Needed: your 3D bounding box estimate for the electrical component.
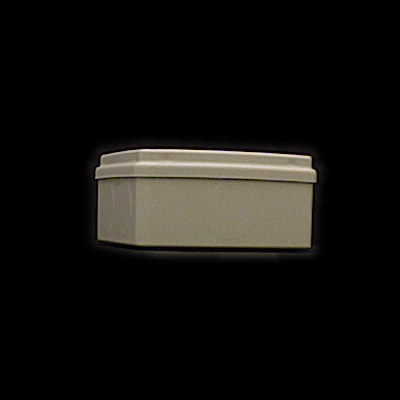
[{"bbox_3d":[0.000,0.000,0.648,0.109,0.056,0.108,1,1,-19],"label":"electrical component"}]
